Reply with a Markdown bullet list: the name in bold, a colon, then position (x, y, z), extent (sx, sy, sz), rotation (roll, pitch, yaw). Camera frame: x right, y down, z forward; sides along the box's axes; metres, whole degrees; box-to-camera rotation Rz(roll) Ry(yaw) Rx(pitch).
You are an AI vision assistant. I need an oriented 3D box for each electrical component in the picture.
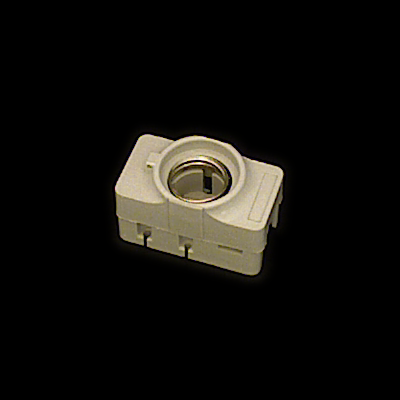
- **electrical component**: position (0.000, 0.000, 0.638), extent (0.089, 0.050, 0.056), rotation (14, -36, 10)
